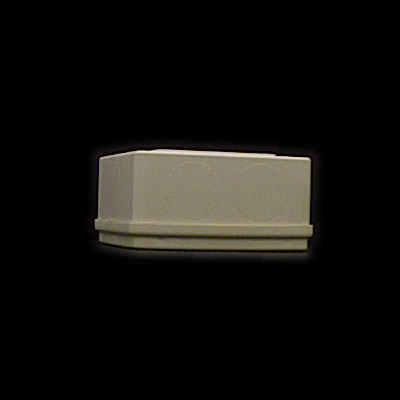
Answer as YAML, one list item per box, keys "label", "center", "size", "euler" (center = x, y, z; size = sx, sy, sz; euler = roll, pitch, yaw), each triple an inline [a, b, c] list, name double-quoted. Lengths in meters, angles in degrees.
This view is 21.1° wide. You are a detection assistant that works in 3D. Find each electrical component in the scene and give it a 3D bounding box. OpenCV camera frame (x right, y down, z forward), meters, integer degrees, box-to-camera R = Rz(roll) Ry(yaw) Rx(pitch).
- label: "electrical component"
  center: [0.000, 0.000, 0.650]
  size: [0.109, 0.056, 0.108]
  euler: [1, 0, -17]
